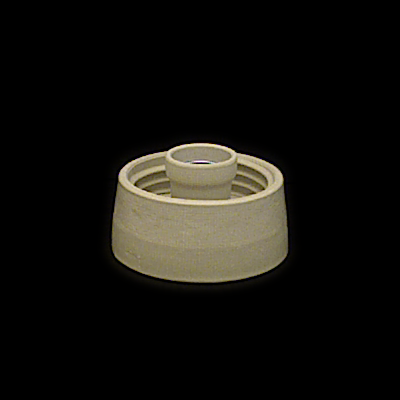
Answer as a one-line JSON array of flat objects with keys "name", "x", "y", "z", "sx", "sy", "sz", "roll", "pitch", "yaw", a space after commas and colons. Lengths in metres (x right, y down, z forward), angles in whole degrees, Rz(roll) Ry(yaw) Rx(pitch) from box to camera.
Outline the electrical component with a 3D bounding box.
[{"name": "electrical component", "x": 0.000, "y": 0.000, "z": 0.647, "sx": 0.108, "sy": 0.061, "sz": 0.106, "roll": 1, "pitch": 21, "yaw": 0}]
